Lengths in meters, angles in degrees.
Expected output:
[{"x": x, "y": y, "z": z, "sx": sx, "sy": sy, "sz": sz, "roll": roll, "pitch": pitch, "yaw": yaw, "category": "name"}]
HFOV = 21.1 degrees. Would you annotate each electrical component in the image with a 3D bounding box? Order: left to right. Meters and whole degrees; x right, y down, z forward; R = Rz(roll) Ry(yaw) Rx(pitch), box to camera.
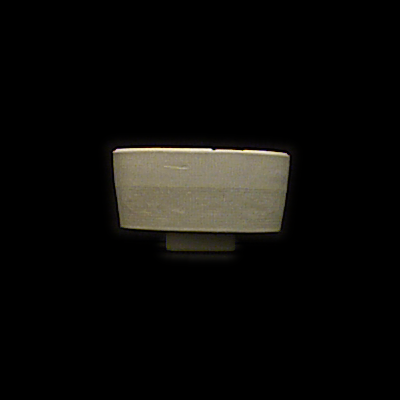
[{"x": 0.000, "y": 0.000, "z": 0.659, "sx": 0.108, "sy": 0.060, "sz": 0.108, "roll": 1, "pitch": 1, "yaw": 1, "category": "electrical component"}]
